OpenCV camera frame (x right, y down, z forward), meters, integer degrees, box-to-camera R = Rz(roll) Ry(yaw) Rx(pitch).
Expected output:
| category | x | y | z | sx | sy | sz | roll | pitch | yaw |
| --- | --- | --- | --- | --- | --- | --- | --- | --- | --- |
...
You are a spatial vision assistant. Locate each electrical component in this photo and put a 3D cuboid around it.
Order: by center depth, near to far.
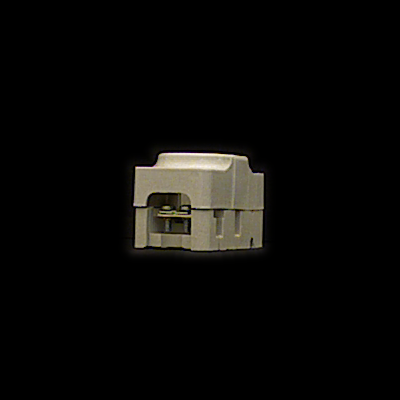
| category | x | y | z | sx | sy | sz | roll | pitch | yaw |
| --- | --- | --- | --- | --- | --- | --- | --- | --- | --- |
| electrical component | 0.000 | 0.000 | 0.657 | 0.050 | 0.056 | 0.090 | 2 | 1 | 24 |
